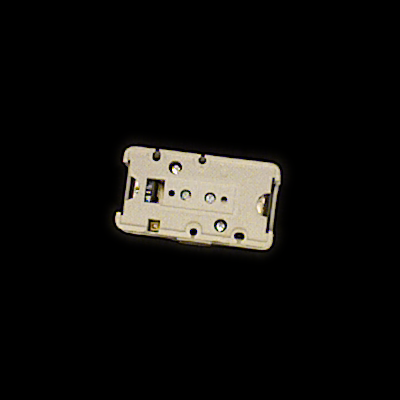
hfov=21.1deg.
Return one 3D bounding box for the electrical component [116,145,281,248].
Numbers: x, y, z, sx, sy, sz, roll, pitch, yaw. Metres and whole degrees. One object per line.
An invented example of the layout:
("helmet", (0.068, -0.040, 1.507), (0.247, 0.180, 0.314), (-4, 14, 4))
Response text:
("electrical component", (0.000, 0.000, 0.637), (0.089, 0.050, 0.055), (7, -5, 1))
